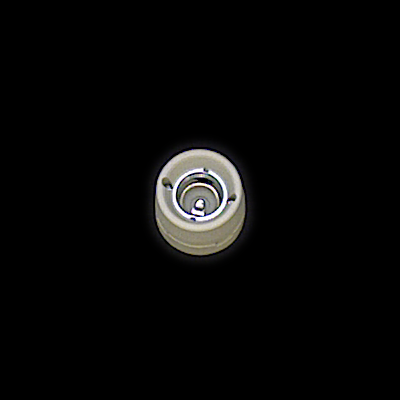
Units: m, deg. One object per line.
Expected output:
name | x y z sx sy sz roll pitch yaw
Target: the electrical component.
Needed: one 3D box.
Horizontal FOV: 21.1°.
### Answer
electrical component | 0.000 0.000 0.633 0.055 0.056 0.047 0 -17 1
